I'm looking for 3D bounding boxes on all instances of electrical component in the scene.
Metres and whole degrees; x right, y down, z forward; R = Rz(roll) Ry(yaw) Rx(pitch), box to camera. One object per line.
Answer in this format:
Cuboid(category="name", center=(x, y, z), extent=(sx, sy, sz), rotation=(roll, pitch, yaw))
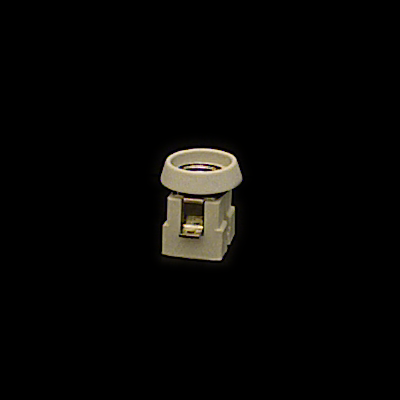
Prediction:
Cuboid(category="electrical component", center=(0.000, 0.000, 0.646), extent=(0.048, 0.056, 0.066), rotation=(3, 22, 10))
